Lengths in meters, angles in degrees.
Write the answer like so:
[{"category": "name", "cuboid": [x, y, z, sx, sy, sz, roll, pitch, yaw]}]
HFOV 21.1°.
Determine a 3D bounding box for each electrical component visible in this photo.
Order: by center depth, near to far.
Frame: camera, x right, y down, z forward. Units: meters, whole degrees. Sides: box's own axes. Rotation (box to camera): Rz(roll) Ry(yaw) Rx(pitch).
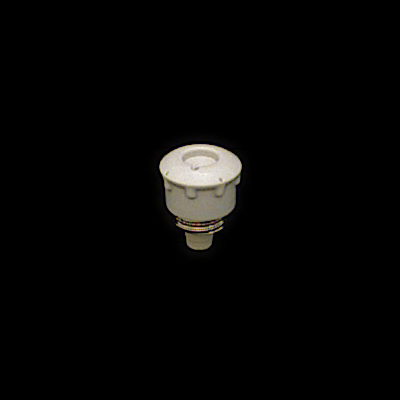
[{"category": "electrical component", "cuboid": [0.000, 0.000, 0.640, 0.048, 0.063, 0.047, 1, 32, 0]}]
